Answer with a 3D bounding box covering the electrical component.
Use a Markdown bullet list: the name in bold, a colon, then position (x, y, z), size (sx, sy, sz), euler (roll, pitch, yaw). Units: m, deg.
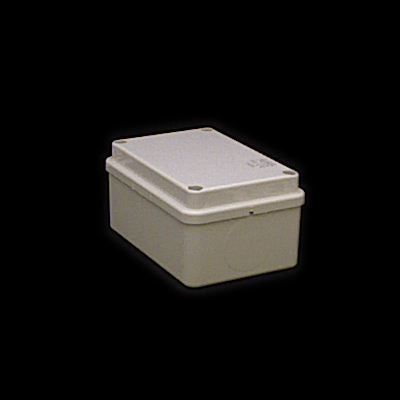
- **electrical component**: position (0.000, 0.000, 0.640), size (0.078, 0.058, 0.112), euler (-10, 23, -27)
